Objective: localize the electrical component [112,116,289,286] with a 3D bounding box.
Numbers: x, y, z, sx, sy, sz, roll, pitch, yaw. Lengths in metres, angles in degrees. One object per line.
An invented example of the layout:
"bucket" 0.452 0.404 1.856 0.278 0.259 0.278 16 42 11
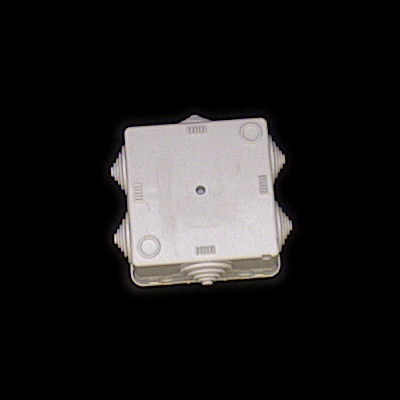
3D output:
"electrical component" 0.000 0.000 0.631 0.100 0.100 0.048 -4 -17 -1
